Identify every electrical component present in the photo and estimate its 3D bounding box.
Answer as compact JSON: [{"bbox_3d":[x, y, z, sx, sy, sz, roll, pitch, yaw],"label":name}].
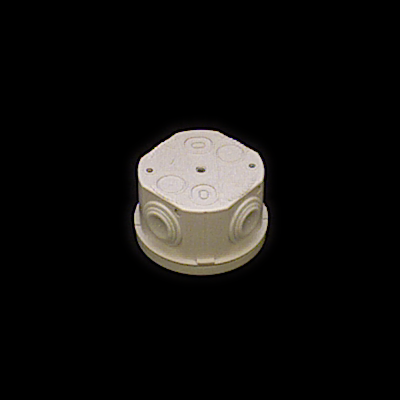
[{"bbox_3d":[0.000,0.000,0.634,0.080,0.051,0.080,0,42,0],"label":"electrical component"}]
